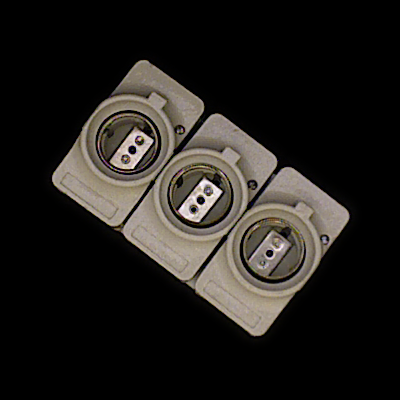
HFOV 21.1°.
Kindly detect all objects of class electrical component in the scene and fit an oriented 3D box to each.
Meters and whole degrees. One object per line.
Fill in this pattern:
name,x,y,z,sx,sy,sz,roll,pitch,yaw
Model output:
electrical component,0.000,0.000,0.632,0.150,0.089,0.061,37,-5,3
